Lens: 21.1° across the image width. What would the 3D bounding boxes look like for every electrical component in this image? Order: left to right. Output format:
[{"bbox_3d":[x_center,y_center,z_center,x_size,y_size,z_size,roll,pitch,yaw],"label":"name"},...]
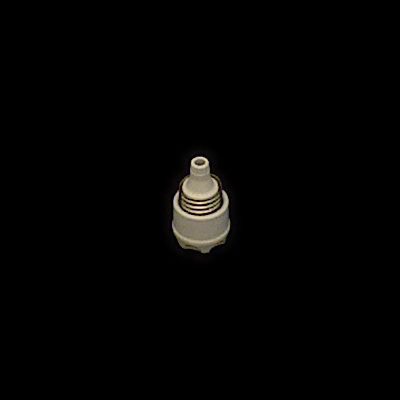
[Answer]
[{"bbox_3d":[0.000,0.000,0.641,0.035,0.062,0.035,-1,41,1],"label":"electrical component"}]
